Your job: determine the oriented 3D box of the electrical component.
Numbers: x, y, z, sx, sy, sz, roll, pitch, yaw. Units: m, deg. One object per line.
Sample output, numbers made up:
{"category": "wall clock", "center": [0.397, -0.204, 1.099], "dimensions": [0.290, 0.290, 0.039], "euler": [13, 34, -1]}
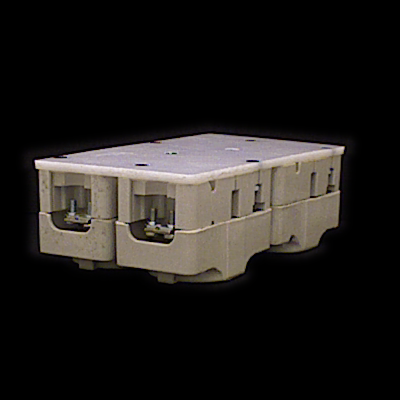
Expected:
{"category": "electrical component", "center": [0.000, 0.000, 0.644], "dimensions": [0.105, 0.061, 0.186], "euler": [8, 11, 31]}
